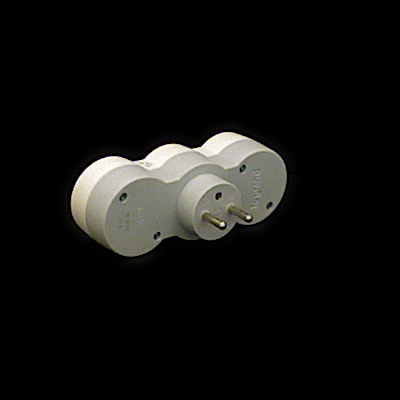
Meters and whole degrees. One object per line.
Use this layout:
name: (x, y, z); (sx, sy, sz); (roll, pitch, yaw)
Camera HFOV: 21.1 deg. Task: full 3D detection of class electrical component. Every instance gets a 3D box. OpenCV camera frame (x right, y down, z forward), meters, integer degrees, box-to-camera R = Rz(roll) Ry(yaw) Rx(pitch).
electrical component: (0.000, 0.000, 0.644); (0.139, 0.053, 0.072); (-14, 28, -34)
